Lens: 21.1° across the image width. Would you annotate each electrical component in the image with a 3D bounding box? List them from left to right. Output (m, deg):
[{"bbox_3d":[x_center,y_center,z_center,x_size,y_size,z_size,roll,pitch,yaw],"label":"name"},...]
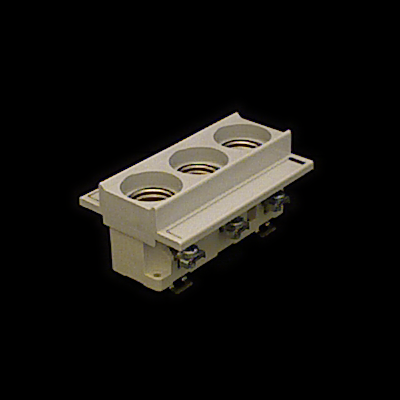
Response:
[{"bbox_3d":[0.000,0.000,0.646,0.078,0.064,0.121,24,39,35],"label":"electrical component"}]
